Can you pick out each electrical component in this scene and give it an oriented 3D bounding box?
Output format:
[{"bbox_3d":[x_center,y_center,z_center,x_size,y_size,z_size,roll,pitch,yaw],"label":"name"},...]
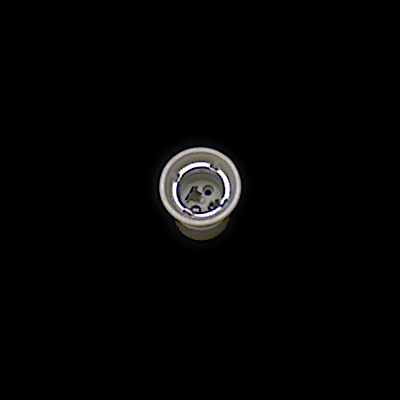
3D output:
[{"bbox_3d":[0.000,0.000,0.624,0.044,0.044,0.065,0,-16,1],"label":"electrical component"}]
